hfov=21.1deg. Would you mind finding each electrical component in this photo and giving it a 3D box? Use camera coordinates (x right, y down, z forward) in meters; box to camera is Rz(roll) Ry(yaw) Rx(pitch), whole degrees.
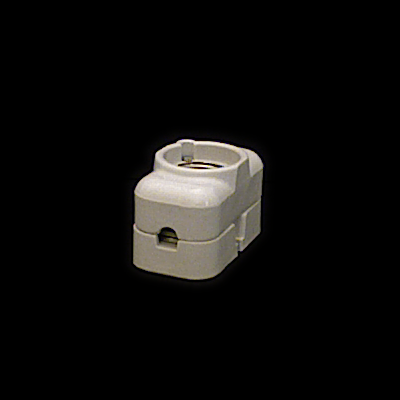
[{"bbox_3d":[0.000,0.000,0.646,0.053,0.060,0.095,10,23,20],"label":"electrical component"}]
